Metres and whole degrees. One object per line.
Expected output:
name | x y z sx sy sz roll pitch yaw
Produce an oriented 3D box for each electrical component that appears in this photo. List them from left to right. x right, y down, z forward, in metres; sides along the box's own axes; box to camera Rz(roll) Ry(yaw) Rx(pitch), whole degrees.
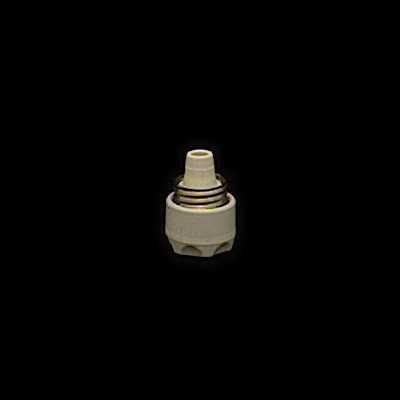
electrical component | 0.000 0.000 0.646 0.043 0.063 0.043 0 21 1
